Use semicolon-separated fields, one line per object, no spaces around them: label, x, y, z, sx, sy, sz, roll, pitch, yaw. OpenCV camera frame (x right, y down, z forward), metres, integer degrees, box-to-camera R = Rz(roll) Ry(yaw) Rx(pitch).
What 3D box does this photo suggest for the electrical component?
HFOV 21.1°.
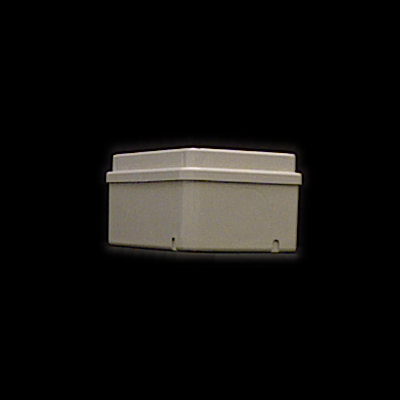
electrical component;0.000;0.000;0.648;0.078;0.057;0.112;1;0;-29
